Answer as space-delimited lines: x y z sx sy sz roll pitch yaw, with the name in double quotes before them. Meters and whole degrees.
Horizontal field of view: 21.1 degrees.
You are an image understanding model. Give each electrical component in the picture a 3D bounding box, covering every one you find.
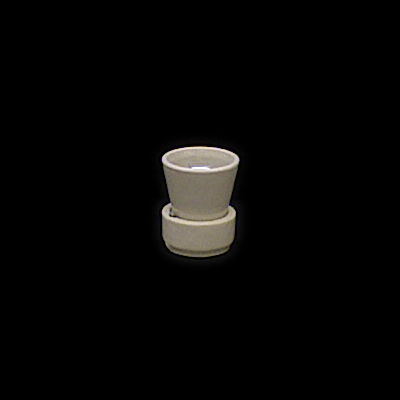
"electrical component" 0.000 0.000 0.639 0.045 0.056 0.044 1 22 0
